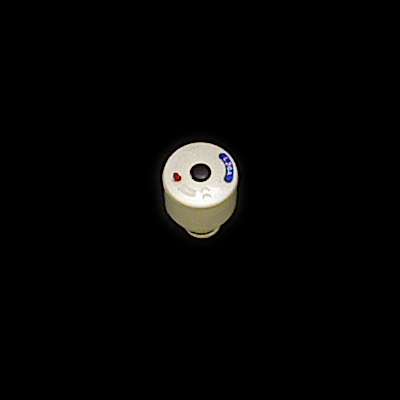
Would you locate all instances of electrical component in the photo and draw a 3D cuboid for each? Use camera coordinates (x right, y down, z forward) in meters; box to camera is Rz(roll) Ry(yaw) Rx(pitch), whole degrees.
[{"bbox_3d":[0.000,0.000,0.618,0.040,0.040,0.078,0,-27,1],"label":"electrical component"}]
